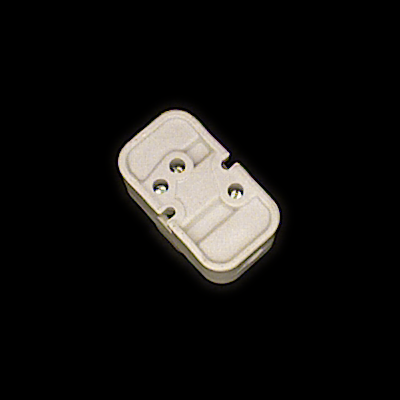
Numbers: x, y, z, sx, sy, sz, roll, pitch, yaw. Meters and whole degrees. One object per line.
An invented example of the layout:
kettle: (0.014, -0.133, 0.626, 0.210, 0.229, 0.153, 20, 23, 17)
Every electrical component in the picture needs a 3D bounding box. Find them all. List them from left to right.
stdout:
electrical component: (0.000, 0.000, 0.634, 0.054, 0.095, 0.059, -41, -11, -10)
